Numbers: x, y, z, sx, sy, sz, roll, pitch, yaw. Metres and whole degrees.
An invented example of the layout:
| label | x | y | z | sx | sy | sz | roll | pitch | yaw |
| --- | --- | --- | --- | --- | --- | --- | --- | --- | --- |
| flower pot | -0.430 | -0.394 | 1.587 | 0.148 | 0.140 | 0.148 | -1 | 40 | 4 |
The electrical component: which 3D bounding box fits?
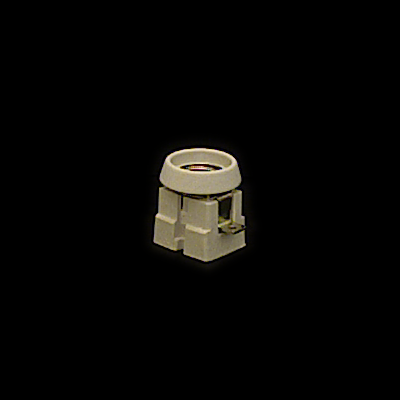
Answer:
| label | x | y | z | sx | sy | sz | roll | pitch | yaw |
| --- | --- | --- | --- | --- | --- | --- | --- | --- | --- |
| electrical component | 0.000 | 0.000 | 0.647 | 0.065 | 0.056 | 0.048 | 18 | 30 | 37 |
